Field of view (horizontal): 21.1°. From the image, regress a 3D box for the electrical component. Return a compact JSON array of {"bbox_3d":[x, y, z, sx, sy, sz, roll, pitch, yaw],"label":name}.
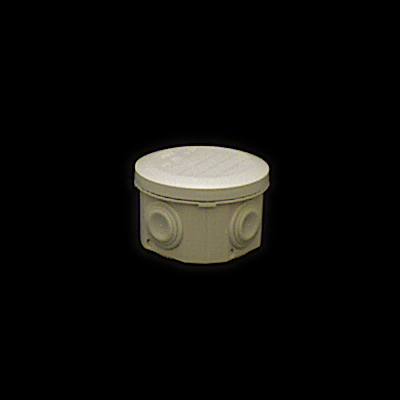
[{"bbox_3d":[0.000,0.000,0.643,0.080,0.051,0.079,1,21,0],"label":"electrical component"}]
